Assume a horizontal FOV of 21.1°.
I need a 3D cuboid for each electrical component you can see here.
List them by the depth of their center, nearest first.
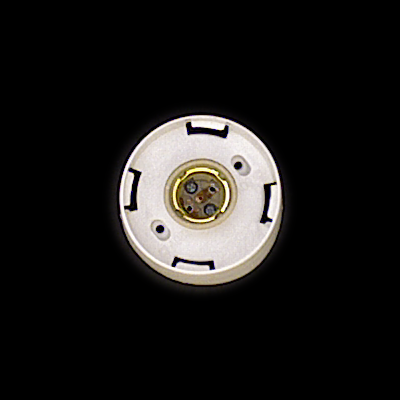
[{"bbox_3d":[0.000,0.000,0.625,0.099,0.099,0.064,0,-6,0],"label":"electrical component"}]
